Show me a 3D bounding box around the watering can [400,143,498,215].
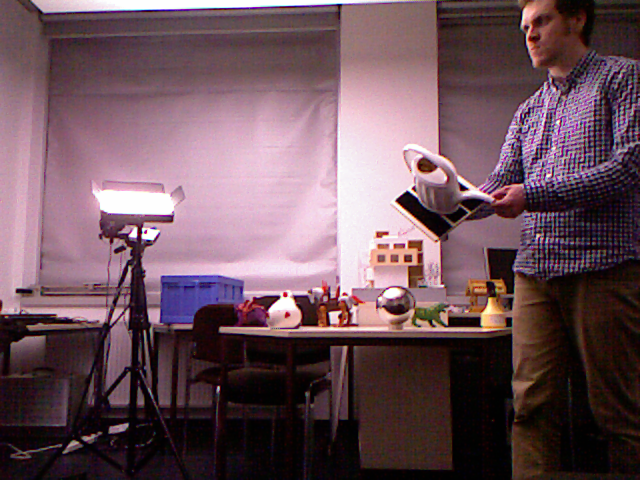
[{"bbox_3d":[0.353,-0.146,1.444,0.353,0.104,0.220,43,-11,35],"label":"watering can"}]
